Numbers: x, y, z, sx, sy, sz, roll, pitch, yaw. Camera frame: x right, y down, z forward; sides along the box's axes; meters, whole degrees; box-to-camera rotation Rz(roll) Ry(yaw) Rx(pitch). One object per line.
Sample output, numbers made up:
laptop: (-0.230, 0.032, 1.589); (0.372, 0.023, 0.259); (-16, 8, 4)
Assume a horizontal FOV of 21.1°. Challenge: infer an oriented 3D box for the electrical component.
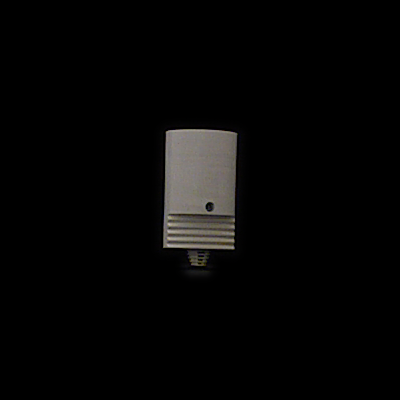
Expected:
electrical component: (0.000, 0.000, 0.652); (0.043, 0.081, 0.043); (2, 1, 0)
